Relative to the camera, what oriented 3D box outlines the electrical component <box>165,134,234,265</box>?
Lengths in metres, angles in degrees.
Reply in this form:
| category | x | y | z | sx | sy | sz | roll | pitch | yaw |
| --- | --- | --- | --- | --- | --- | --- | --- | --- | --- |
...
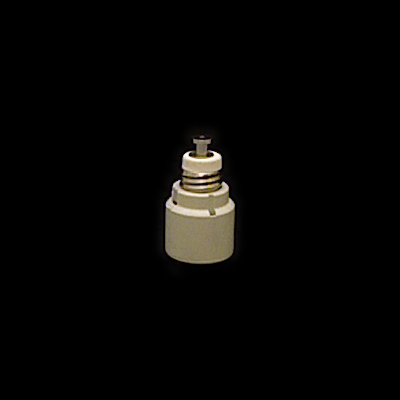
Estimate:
| category | x | y | z | sx | sy | sz | roll | pitch | yaw |
| --- | --- | --- | --- | --- | --- | --- | --- | --- | --- |
| electrical component | 0.000 | 0.000 | 0.637 | 0.040 | 0.079 | 0.039 | 2 | 22 | 0 |
